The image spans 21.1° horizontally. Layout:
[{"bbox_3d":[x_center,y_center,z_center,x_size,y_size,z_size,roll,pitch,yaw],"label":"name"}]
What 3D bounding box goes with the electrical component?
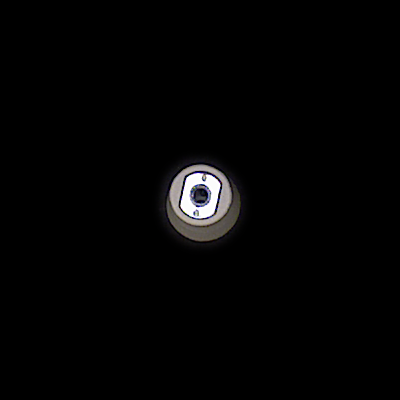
[{"bbox_3d":[0.000,0.000,0.626,0.044,0.044,0.065,0,-6,2],"label":"electrical component"}]
